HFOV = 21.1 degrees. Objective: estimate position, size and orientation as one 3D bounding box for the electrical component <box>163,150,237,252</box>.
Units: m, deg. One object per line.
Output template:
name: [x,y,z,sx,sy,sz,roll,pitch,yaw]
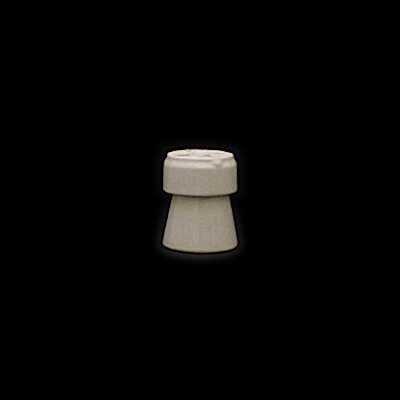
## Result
electrical component: [0.000,0.000,0.644,0.045,0.055,0.044,1,11,0]
